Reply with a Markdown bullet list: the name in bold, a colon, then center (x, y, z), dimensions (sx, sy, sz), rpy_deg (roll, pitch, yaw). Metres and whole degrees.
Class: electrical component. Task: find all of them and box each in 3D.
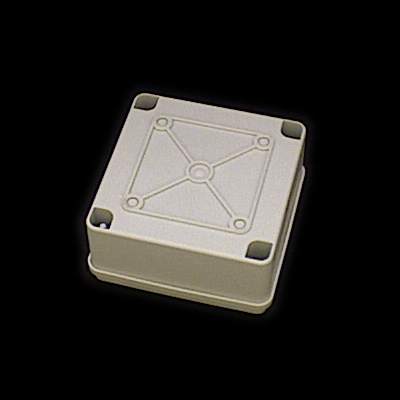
- **electrical component**: center (0.000, 0.000, 0.628), dimensions (0.108, 0.108, 0.056), rpy_deg (11, -36, 9)
